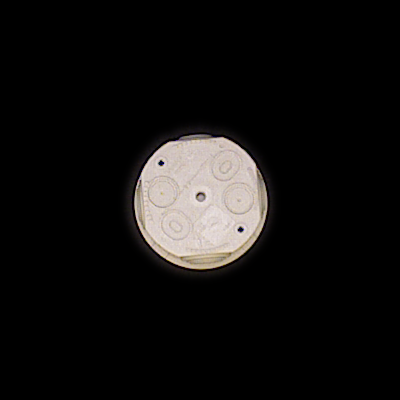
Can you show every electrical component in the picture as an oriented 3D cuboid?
[{"bbox_3d":[0.000,0.000,0.633,0.080,0.080,0.050,0,-7,0],"label":"electrical component"}]
